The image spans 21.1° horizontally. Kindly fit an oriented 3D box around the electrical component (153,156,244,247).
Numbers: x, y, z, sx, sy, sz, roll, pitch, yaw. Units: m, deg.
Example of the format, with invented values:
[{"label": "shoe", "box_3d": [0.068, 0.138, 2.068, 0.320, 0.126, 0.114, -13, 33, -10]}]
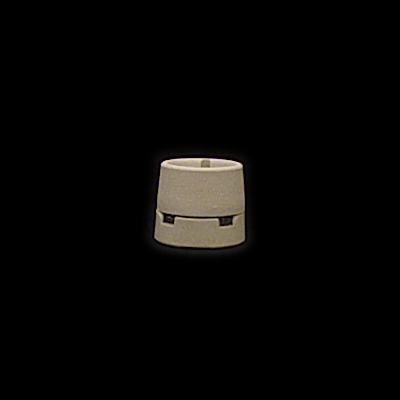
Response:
[{"label": "electrical component", "box_3d": [0.000, 0.000, 0.648, 0.055, 0.047, 0.055, 2, 10, 0]}]
